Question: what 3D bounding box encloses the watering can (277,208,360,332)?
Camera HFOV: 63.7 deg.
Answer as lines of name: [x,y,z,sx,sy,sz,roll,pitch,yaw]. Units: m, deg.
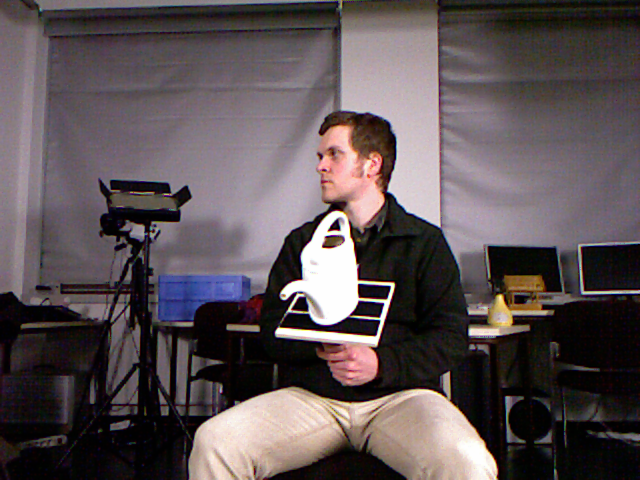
watering can: [0.004,0.079,0.983,0.104,0.220,0.355,5,30,21]
